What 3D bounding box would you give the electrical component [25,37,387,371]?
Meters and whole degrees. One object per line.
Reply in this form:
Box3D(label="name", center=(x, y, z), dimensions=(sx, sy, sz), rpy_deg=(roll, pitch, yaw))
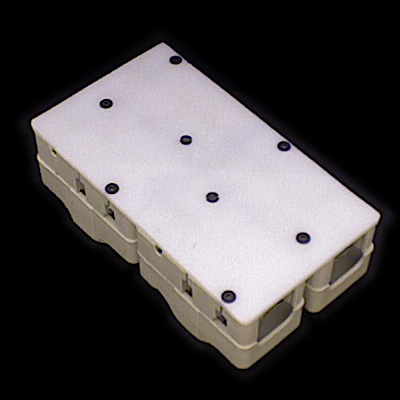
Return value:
Box3D(label="electrical component", center=(0.000, 0.000, 0.627), dimensions=(0.105, 0.060, 0.185), rpy_deg=(-36, 61, -24))
